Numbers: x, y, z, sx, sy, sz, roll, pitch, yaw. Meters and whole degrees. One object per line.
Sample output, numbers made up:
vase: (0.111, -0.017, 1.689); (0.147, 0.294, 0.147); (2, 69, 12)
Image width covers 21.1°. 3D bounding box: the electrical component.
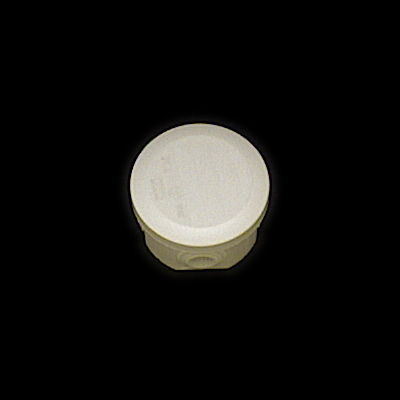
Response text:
electrical component: (0.000, 0.000, 0.631); (0.080, 0.080, 0.050); (0, -28, 0)
